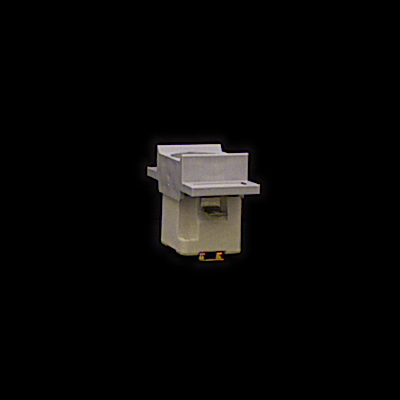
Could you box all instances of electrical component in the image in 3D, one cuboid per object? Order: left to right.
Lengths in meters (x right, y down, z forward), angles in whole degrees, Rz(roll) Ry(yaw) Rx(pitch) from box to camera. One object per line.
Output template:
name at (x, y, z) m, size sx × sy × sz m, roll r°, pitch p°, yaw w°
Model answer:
electrical component at (0.000, 0.000, 0.646) m, size 0.042 × 0.064 × 0.080 m, roll -4°, pitch 12°, yaw -20°
